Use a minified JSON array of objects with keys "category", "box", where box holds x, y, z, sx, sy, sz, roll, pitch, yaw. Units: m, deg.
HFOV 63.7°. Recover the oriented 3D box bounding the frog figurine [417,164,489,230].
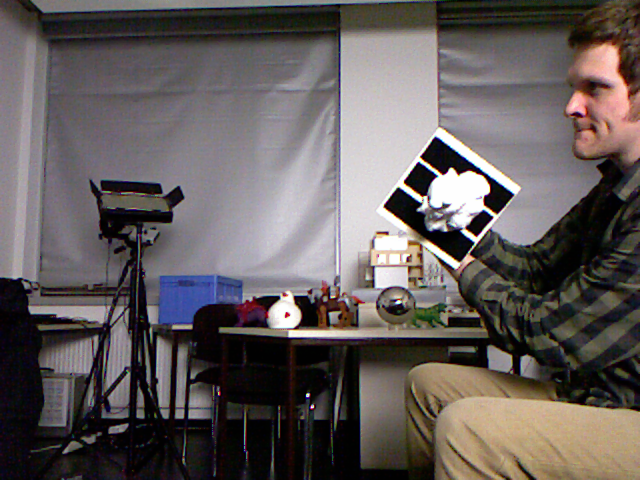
[{"category":"frog figurine","box":[0.255,-0.075,0.973,0.137,0.122,0.161,-32,7,8]}]
